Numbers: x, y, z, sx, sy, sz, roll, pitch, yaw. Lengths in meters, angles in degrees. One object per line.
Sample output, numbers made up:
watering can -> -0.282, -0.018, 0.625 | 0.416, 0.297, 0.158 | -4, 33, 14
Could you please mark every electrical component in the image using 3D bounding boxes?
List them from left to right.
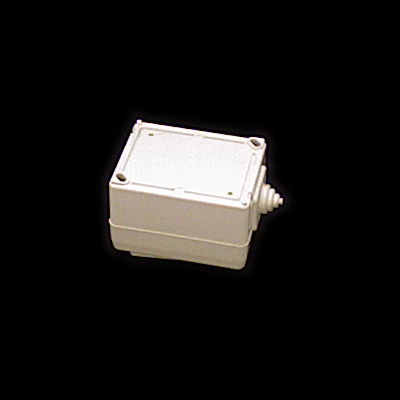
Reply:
electrical component -> 0.000, 0.000, 0.629 | 0.096, 0.061, 0.061 | 9, 43, 8
